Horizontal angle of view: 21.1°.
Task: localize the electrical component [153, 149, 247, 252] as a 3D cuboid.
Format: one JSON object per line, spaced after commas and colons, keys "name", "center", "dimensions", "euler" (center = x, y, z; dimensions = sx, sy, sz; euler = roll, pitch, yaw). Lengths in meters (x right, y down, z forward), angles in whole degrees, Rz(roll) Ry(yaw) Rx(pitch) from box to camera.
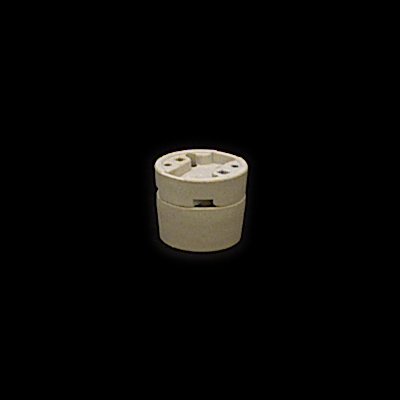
{"name": "electrical component", "center": [0.000, 0.000, 0.640], "dimensions": [0.055, 0.047, 0.055], "euler": [1, 21, 0]}
